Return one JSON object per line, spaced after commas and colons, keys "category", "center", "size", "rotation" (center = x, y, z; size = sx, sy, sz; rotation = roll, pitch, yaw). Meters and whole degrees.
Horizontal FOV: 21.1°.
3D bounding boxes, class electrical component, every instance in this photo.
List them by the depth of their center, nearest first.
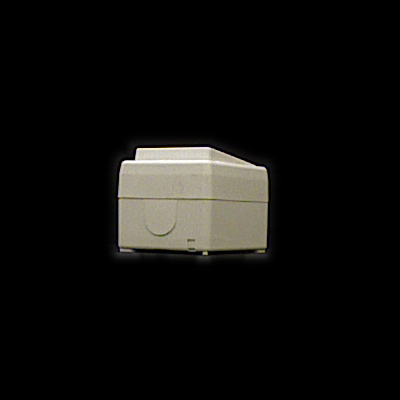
{"category": "electrical component", "center": [0.000, 0.000, 0.652], "size": [0.061, 0.061, 0.096], "rotation": [2, 0, 29]}
